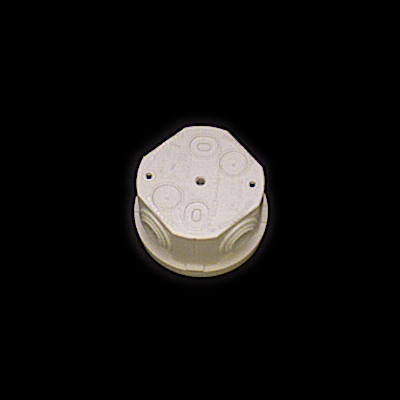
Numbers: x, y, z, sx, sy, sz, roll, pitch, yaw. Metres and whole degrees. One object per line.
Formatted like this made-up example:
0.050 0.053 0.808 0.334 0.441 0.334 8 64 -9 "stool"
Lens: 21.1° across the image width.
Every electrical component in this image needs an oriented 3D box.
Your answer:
0.000 0.000 0.631 0.080 0.080 0.050 0 -27 1 "electrical component"
